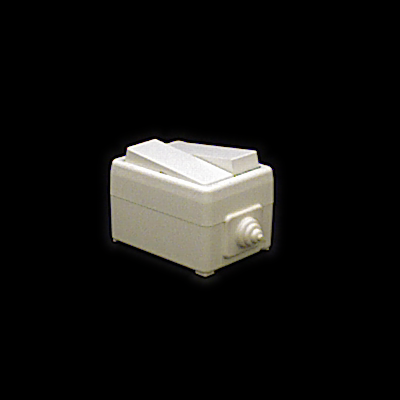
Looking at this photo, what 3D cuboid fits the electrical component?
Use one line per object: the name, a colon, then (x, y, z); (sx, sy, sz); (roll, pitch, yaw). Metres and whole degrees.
electrical component: (0.000, 0.000, 0.637); (0.096, 0.061, 0.061); (19, 27, 39)
